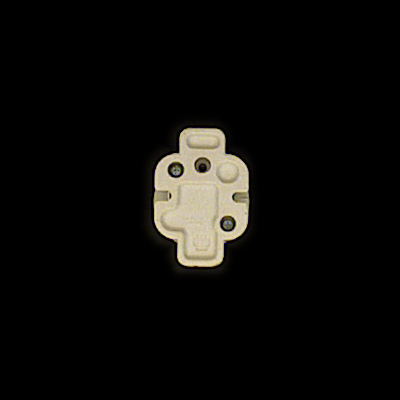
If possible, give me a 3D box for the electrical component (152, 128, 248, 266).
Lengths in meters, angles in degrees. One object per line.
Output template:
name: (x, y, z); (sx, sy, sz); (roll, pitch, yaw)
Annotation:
electrical component: (0.000, 0.000, 0.637); (0.058, 0.078, 0.056); (0, -4, 0)
